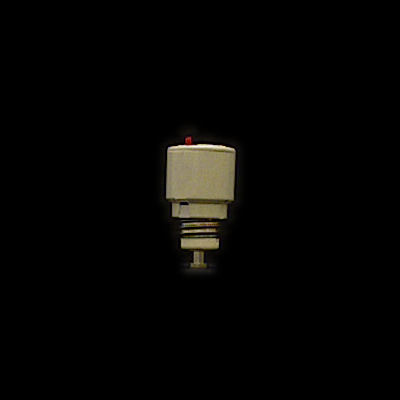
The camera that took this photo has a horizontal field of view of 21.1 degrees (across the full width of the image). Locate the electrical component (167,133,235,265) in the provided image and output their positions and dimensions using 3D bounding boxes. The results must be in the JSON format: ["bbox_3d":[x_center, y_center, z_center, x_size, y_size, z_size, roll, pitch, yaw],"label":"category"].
[{"bbox_3d":[0.000,0.000,0.648,0.040,0.078,0.040,1,2,0],"label":"electrical component"}]
